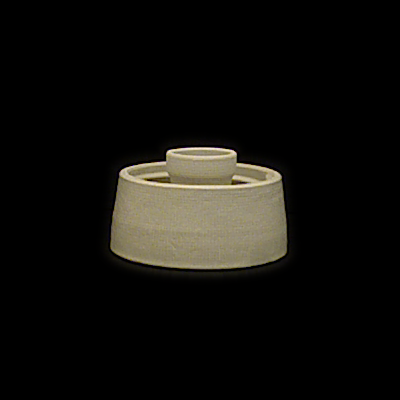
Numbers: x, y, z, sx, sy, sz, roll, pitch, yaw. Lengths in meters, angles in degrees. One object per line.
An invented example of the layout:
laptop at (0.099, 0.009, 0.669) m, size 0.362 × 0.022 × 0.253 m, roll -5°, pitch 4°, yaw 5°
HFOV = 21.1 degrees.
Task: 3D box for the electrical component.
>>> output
electrical component at (0.000, 0.000, 0.650) m, size 0.108 × 0.061 × 0.107 m, roll 1°, pitch 11°, yaw 0°
